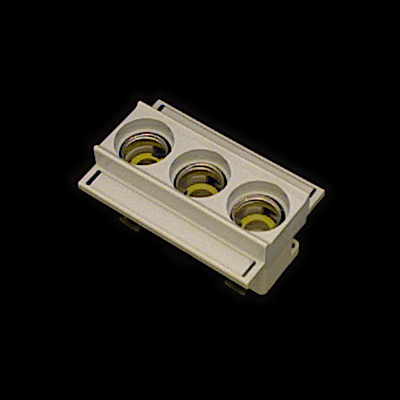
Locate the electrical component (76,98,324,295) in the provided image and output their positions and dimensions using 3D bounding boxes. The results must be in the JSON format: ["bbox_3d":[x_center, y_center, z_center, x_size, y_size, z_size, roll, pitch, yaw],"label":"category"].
[{"bbox_3d":[0.000,0.000,0.638,0.121,0.078,0.063,31,-30,21],"label":"electrical component"}]
